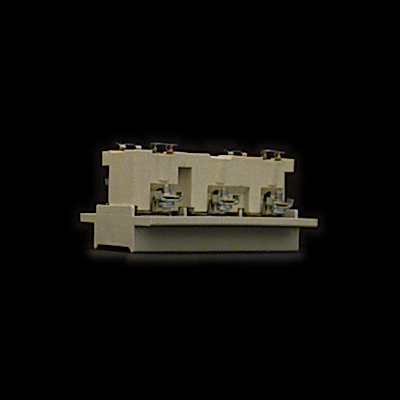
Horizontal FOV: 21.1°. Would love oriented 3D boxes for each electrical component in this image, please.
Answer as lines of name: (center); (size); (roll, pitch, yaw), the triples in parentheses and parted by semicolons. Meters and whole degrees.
electrical component: (0.000, 0.000, 0.655); (0.122, 0.063, 0.078); (1, 1, -36)
